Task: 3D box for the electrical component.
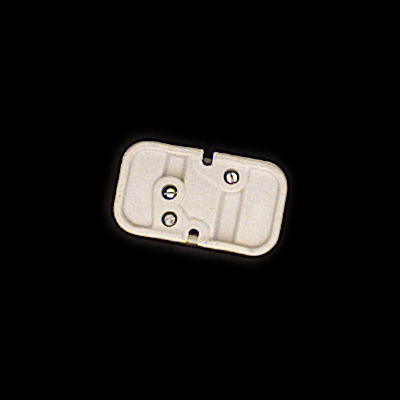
[{"bbox_3d":[0.000,0.000,0.637,0.095,0.054,0.059,10,-6,1],"label":"electrical component"}]
